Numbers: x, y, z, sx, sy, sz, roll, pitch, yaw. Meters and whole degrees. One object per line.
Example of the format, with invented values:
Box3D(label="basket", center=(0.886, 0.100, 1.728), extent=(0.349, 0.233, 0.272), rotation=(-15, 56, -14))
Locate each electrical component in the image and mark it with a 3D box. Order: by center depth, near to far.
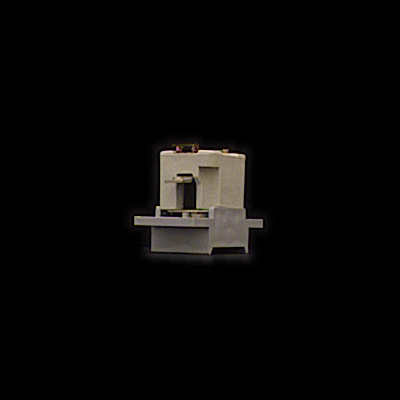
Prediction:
Box3D(label="electrical component", center=(0.000, 0.000, 0.651), extent=(0.042, 0.064, 0.081), rotation=(2, 1, 31))
